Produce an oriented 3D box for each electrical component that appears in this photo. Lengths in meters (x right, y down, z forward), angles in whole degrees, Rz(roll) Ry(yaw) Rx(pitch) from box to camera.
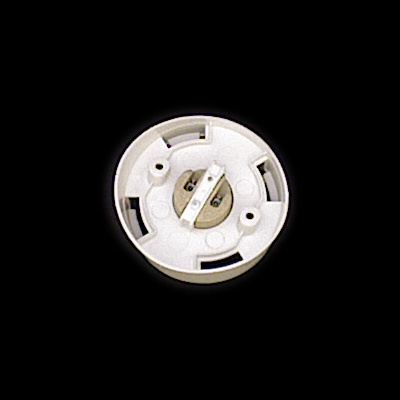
[{"bbox_3d":[0.000,0.000,0.623,0.099,0.099,0.064,0,-16,0],"label":"electrical component"}]
